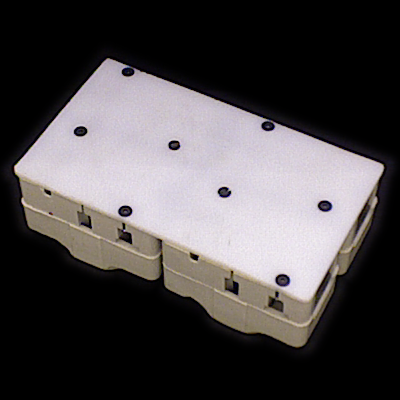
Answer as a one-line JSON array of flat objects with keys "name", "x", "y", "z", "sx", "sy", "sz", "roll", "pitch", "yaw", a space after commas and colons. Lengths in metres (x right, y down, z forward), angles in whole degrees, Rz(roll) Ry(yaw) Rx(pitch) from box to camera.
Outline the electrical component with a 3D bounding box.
[{"name": "electrical component", "x": 0.000, "y": 0.000, "z": 0.627, "sx": 0.186, "sy": 0.105, "sz": 0.060, "roll": 23, "pitch": -34, "yaw": 16}]
